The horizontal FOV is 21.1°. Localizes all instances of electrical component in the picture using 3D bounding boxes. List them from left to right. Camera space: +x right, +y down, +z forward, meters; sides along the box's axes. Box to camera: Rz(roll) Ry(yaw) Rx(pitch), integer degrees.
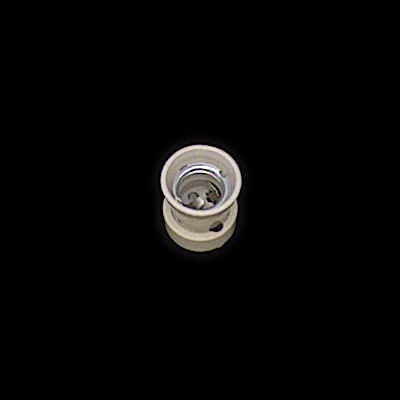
[{"bbox_3d":[0.000,0.000,0.629,0.045,0.045,0.055,0,-27,-1],"label":"electrical component"}]
